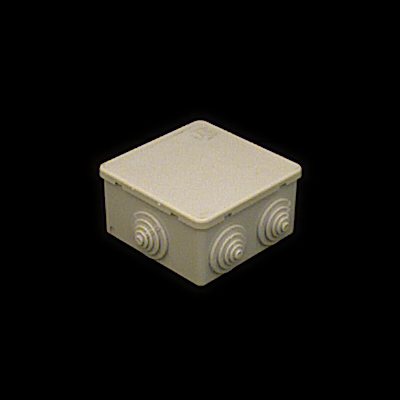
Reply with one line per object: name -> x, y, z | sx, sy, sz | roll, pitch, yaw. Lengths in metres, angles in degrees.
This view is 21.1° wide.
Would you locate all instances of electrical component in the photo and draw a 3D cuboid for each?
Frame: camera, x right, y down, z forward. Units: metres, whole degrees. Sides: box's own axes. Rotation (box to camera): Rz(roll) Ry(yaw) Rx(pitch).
electrical component -> 0.000, 0.000, 0.646 | 0.098, 0.049, 0.100 | 28, 41, 36
